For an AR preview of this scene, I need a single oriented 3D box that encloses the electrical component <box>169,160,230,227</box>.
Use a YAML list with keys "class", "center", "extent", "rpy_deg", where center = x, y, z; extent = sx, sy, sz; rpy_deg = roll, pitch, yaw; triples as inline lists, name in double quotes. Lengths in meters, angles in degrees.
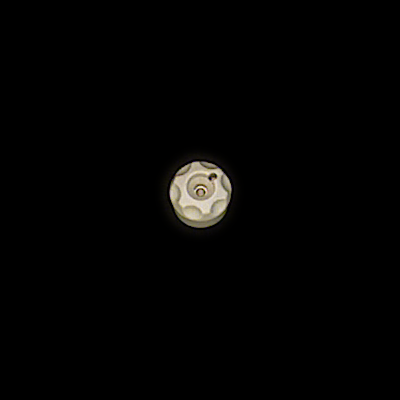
- class: "electrical component"
  center: [0.000, 0.000, 0.634]
  extent: [0.035, 0.035, 0.061]
  rpy_deg: [0, -16, 1]
